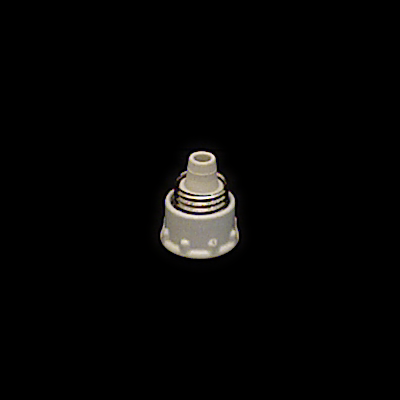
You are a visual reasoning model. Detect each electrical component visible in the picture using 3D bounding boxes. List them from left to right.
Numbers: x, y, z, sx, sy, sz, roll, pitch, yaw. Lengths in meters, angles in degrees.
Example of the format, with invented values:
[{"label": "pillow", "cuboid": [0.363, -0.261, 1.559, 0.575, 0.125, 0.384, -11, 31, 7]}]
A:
[{"label": "electrical component", "cuboid": [0.000, 0.000, 0.642, 0.048, 0.063, 0.047, 2, 33, -1]}]
